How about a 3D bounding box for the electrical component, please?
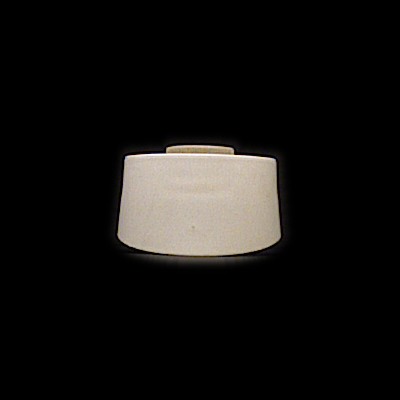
[{"bbox_3d":[0.000,0.000,0.650,0.099,0.064,0.099,1,0,0],"label":"electrical component"}]
